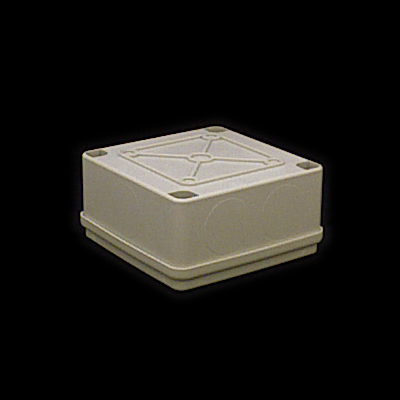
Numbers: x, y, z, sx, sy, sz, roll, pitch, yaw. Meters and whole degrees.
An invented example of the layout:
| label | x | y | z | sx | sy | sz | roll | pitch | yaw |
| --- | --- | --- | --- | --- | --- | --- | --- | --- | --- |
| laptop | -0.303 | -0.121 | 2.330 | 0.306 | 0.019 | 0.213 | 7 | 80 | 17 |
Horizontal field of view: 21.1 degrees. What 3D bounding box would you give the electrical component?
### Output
| label | x | y | z | sx | sy | sz | roll | pitch | yaw |
| --- | --- | --- | --- | --- | --- | --- | --- | --- | --- |
| electrical component | 0.000 | 0.000 | 0.638 | 0.109 | 0.057 | 0.107 | -14 | 25 | -34 |
